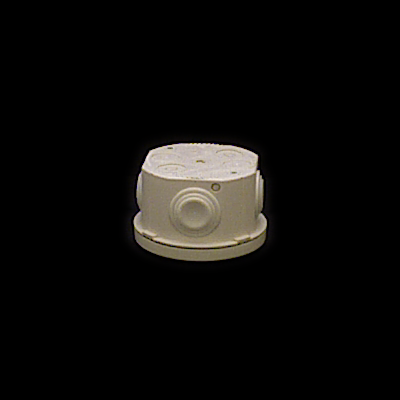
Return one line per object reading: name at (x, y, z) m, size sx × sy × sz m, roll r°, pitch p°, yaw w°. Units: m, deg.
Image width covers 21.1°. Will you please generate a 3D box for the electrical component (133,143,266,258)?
electrical component at (0.000, 0.000, 0.641) m, size 0.080 × 0.051 × 0.079 m, roll 1°, pitch 20°, yaw 0°
